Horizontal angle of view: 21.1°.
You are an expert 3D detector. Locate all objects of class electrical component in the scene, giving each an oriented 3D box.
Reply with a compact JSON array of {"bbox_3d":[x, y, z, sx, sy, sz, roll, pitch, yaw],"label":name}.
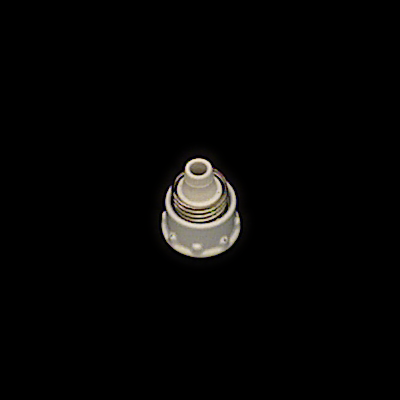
[{"bbox_3d":[0.000,0.000,0.634,0.048,0.048,0.062,0,-37,1],"label":"electrical component"}]
